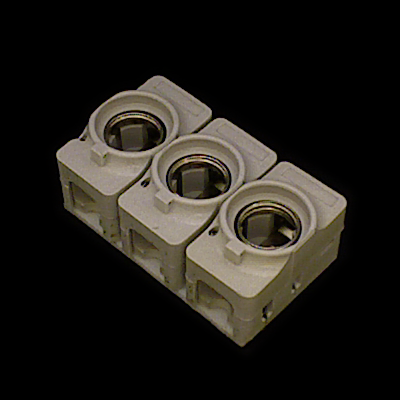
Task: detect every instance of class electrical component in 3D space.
[{"bbox_3d":[0.000,0.000,0.632,0.149,0.062,0.089,35,60,24],"label":"electrical component"}]
